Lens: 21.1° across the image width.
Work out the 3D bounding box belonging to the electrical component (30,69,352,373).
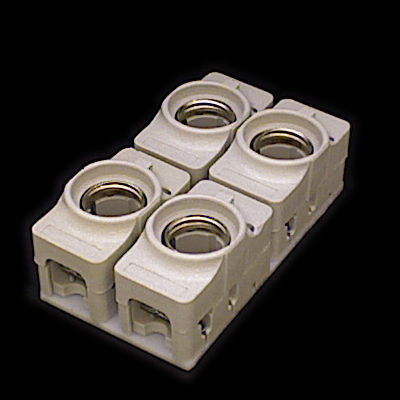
[{"bbox_3d":[0.000,0.000,0.630,0.105,0.061,0.185,24,46,23],"label":"electrical component"}]
